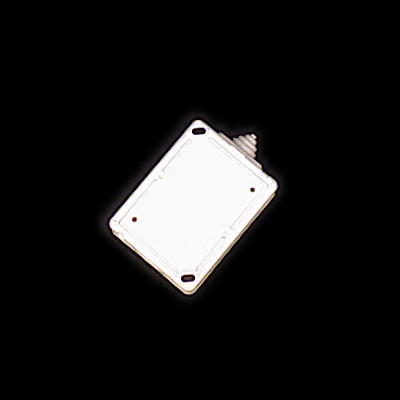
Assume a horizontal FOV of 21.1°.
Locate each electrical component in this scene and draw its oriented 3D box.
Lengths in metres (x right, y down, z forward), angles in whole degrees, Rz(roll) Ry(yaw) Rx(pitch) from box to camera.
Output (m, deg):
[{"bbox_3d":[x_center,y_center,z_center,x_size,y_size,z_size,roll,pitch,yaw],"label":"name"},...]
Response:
[{"bbox_3d":[0.000,0.000,0.629,0.062,0.096,0.061,39,-6,4],"label":"electrical component"}]
